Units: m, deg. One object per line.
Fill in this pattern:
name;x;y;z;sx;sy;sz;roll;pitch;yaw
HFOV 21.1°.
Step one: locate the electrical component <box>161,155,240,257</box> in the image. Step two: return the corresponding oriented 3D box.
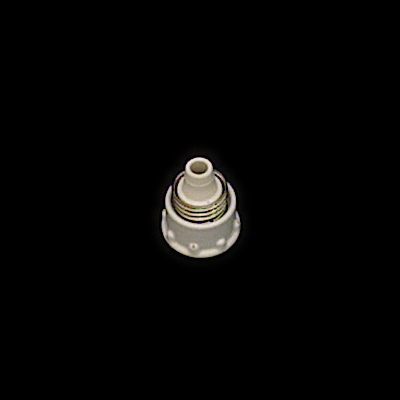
electrical component;0.000;0.000;0.635;0.048;0.048;0.062;0;-38;0
